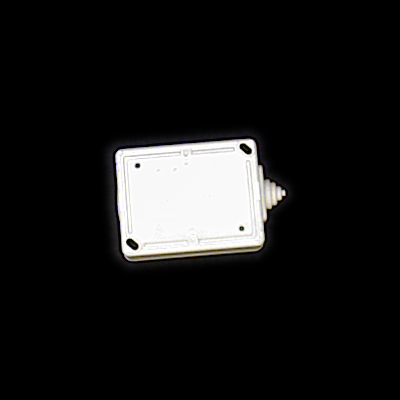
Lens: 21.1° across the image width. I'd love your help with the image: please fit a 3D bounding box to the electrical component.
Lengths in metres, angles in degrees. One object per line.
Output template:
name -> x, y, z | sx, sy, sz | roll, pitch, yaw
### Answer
electrical component -> 0.000, 0.001, 0.627 | 0.096, 0.062, 0.061 | -5, -7, 0
